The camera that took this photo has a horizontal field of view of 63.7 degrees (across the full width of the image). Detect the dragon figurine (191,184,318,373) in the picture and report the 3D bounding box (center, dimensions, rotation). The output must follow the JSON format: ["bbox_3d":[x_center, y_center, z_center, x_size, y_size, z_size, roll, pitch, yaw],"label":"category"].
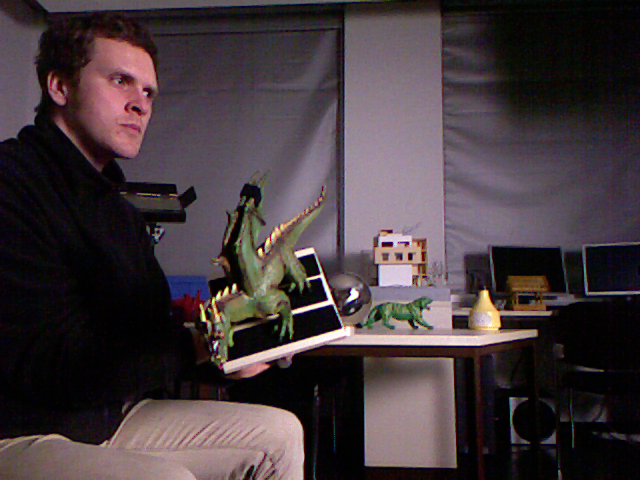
[{"bbox_3d":[-0.087,0.019,0.796,0.123,0.421,0.238,13,-36,12],"label":"dragon figurine"}]
